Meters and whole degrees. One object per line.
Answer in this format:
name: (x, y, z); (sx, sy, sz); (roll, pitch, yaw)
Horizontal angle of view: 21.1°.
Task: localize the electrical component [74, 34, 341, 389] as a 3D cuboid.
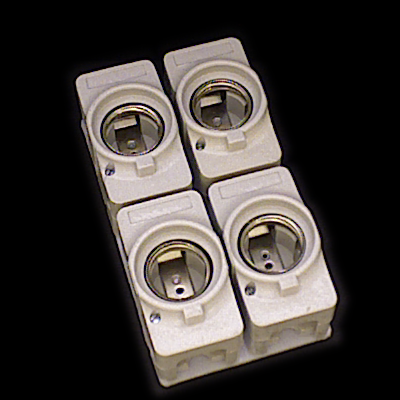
electrical component: (0.000, 0.000, 0.626); (0.106, 0.186, 0.060); (-15, -26, -8)
